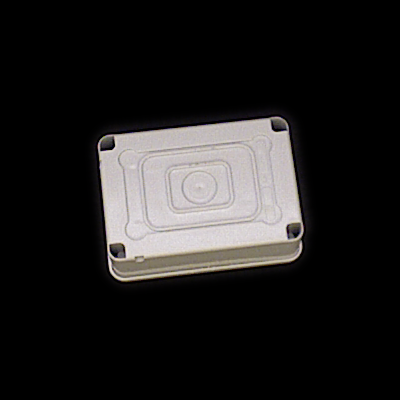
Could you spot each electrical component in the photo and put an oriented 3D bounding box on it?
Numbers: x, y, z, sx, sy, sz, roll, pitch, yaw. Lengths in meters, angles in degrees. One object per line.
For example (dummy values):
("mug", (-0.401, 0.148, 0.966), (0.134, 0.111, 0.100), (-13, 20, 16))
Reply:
("electrical component", (0.000, 0.000, 0.628), (0.113, 0.078, 0.057), (-6, -17, -3))
